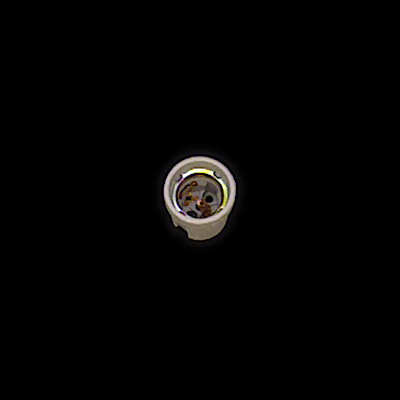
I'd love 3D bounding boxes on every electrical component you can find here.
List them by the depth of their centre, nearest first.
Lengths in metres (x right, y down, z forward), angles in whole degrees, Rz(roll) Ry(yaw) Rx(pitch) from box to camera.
[{"bbox_3d":[0.000,0.000,0.627,0.040,0.040,0.046,0,-17,-1],"label":"electrical component"}]
